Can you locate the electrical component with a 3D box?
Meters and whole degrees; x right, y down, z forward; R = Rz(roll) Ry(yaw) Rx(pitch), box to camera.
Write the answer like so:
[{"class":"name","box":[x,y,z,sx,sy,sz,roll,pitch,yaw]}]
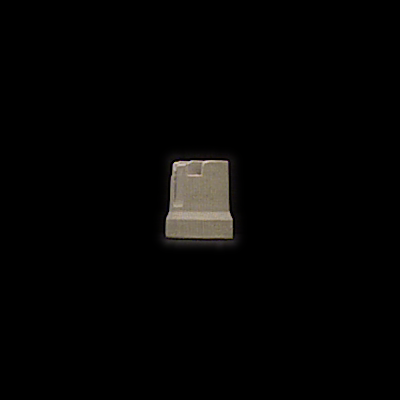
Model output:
[{"class":"electrical component","box":[0.000,0.000,0.650,0.040,0.046,0.040,1,1,0]}]
